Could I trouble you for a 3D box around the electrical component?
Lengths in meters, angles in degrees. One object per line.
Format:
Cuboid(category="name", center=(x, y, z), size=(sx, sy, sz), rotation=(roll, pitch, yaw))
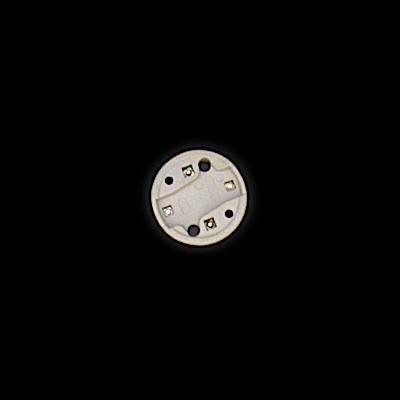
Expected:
Cuboid(category="electrical component", center=(0.000, 0.000, 0.636), size=(0.055, 0.055, 0.047), rotation=(0, -6, 0))
